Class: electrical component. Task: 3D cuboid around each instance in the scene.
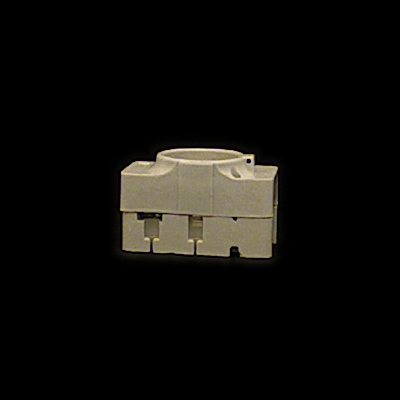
[{"bbox_3d":[0.000,0.000,0.651,0.089,0.056,0.050,2,12,6],"label":"electrical component"}]
